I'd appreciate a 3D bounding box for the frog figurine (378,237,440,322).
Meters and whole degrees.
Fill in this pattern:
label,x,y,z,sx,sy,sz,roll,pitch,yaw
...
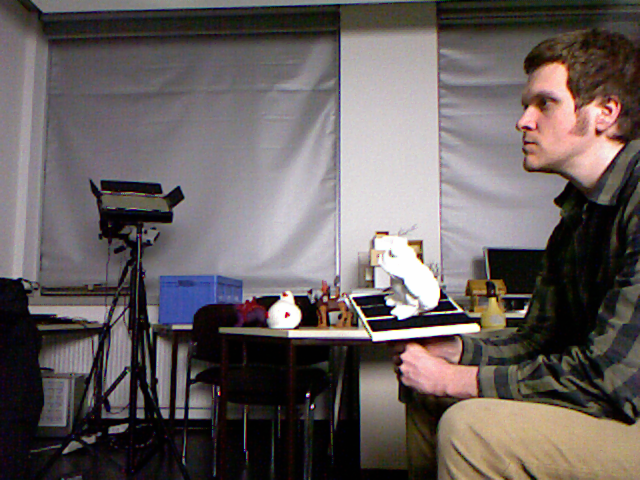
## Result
label,x,y,z,sx,sy,sz,roll,pitch,yaw
frog figurine,0.175,0.066,1.011,0.123,0.157,0.140,1,19,7
